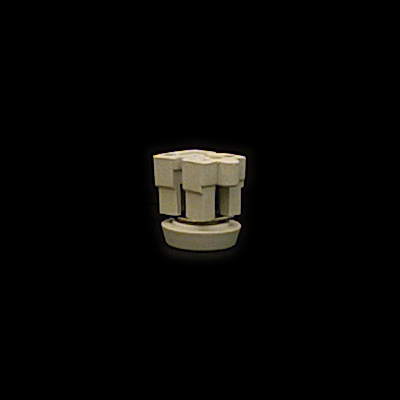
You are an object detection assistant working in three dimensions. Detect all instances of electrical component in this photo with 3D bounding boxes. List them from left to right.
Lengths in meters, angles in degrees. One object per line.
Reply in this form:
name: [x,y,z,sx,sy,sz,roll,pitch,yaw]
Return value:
electrical component: [0.000,0.000,0.652,0.048,0.056,0.065,-12,17,-43]
